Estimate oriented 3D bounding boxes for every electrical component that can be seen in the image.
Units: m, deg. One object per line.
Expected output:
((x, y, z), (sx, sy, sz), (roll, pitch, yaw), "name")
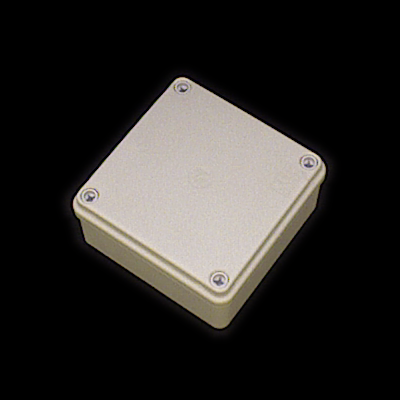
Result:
((0.000, 0.000, 0.629), (0.108, 0.109, 0.056), (32, -23, 16), "electrical component")
